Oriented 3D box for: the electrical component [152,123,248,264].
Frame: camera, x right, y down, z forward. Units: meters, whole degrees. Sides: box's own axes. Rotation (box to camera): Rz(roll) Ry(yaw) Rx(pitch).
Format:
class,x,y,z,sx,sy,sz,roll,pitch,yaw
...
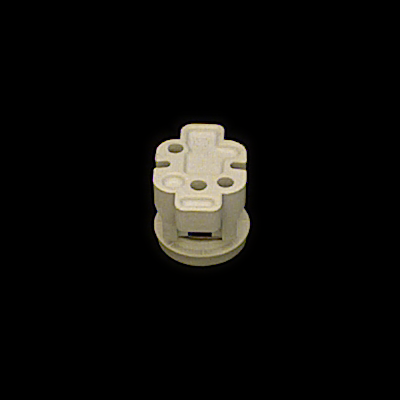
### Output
class,x,y,z,sx,sy,sz,roll,pitch,yaw
electrical component,0.000,0.000,0.640,0.058,0.057,0.078,0,41,1
